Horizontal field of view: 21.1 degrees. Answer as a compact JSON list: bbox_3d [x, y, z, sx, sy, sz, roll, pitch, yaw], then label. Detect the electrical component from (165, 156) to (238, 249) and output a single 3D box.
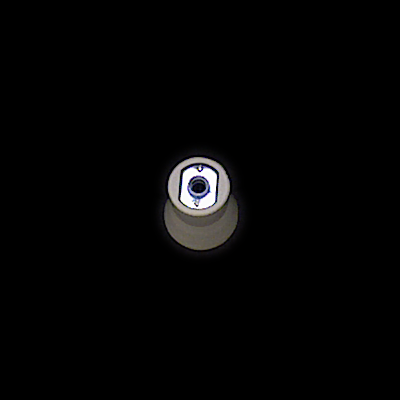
[{"bbox_3d":[0.000,0.000,0.625,0.044,0.044,0.065,0,-16,1],"label":"electrical component"}]
